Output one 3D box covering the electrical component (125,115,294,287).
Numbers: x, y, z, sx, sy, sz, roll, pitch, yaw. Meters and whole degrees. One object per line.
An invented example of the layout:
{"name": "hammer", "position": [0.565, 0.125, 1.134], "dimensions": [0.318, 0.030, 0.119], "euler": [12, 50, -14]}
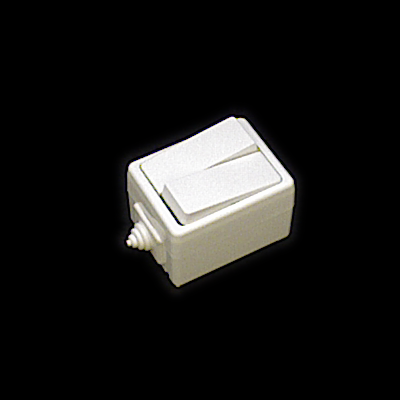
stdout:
{"name": "electrical component", "position": [0.000, 0.000, 0.627], "dimensions": [0.096, 0.061, 0.061], "euler": [-23, -34, -18]}
